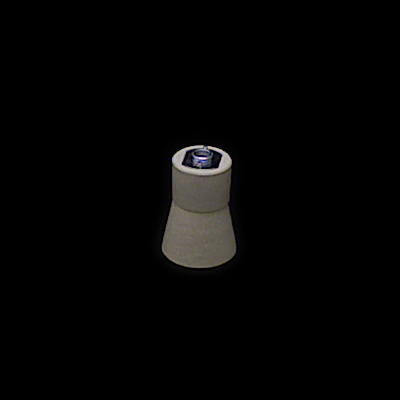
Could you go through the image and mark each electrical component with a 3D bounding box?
[{"bbox_3d":[0.000,0.000,0.632,0.044,0.066,0.044,2,31,-1],"label":"electrical component"}]
